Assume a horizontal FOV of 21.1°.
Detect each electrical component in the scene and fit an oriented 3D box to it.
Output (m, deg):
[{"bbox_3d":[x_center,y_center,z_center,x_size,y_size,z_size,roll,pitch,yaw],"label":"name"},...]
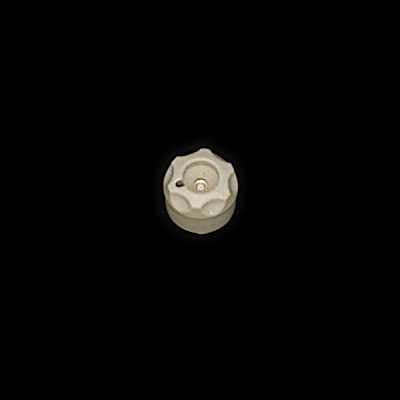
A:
[{"bbox_3d":[0.000,0.000,0.635,0.043,0.043,0.062,0,-27,0],"label":"electrical component"}]
